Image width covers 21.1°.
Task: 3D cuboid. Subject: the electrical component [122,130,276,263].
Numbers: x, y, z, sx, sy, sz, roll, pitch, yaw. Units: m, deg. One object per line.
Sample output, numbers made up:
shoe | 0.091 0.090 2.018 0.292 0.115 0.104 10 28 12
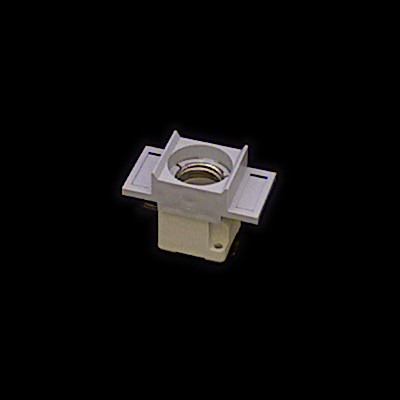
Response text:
electrical component | 0.000 0.000 0.629 0.080 0.064 0.042 13 44 12
